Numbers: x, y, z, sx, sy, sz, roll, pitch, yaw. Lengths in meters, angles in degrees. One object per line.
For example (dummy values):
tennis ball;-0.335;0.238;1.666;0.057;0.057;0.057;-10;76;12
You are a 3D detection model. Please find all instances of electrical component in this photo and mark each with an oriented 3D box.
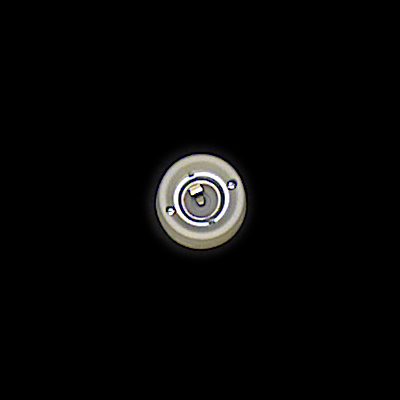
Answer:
electrical component;0.000;0.000;0.634;0.055;0.055;0.047;0;-7;-1
